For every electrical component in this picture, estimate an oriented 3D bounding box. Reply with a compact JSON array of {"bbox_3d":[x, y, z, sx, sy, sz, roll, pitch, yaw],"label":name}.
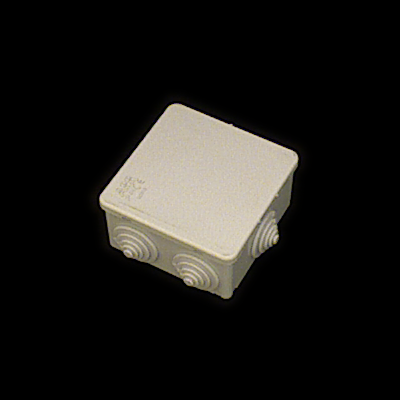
[{"bbox_3d":[0.000,0.000,0.640,0.099,0.100,0.048,24,-33,17],"label":"electrical component"}]
